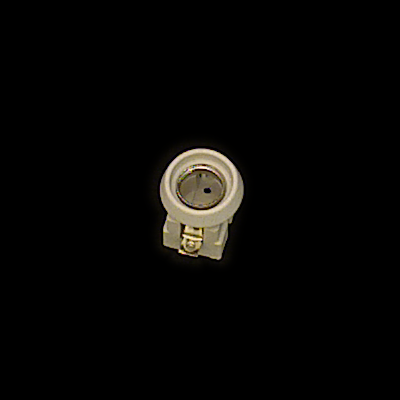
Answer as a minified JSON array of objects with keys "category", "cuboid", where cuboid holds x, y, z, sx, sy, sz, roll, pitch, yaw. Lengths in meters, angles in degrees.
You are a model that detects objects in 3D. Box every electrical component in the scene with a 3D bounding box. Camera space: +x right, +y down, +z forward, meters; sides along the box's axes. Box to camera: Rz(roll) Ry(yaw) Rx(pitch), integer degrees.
[{"category":"electrical component","cuboid":[0.000,0.000,0.636,0.048,0.067,0.055,11,-26,8]}]
